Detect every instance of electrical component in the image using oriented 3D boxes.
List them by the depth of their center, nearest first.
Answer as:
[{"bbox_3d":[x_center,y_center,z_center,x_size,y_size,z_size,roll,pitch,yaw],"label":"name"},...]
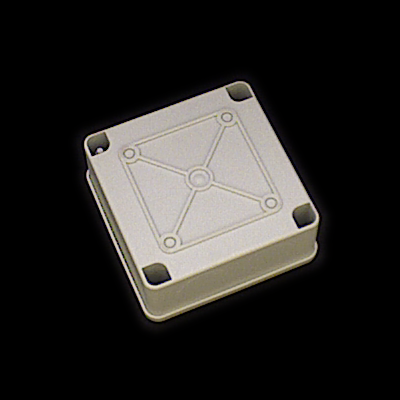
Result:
[{"bbox_3d":[0.000,0.000,0.627,0.109,0.108,0.056,-21,-25,-10],"label":"electrical component"}]
